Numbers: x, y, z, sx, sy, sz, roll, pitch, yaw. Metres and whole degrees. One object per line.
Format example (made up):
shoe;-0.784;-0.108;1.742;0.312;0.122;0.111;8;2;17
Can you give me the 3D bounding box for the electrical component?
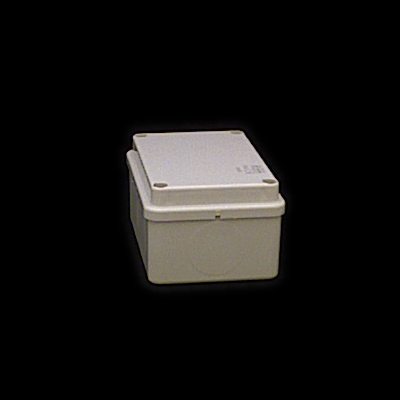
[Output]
electrical component;0.000;0.000;0.639;0.078;0.058;0.111;-2;21;-9
